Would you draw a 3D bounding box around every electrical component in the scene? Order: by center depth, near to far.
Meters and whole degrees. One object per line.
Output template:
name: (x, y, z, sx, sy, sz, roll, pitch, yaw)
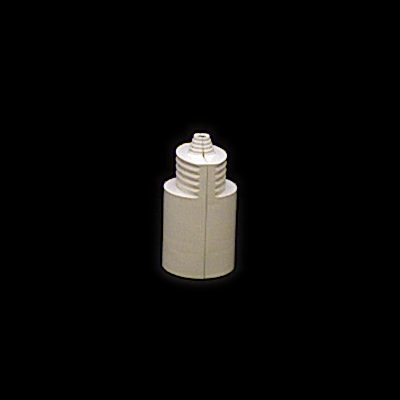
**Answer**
electrical component: (0.000, 0.000, 0.634, 0.043, 0.082, 0.042, 1, 21, 0)
